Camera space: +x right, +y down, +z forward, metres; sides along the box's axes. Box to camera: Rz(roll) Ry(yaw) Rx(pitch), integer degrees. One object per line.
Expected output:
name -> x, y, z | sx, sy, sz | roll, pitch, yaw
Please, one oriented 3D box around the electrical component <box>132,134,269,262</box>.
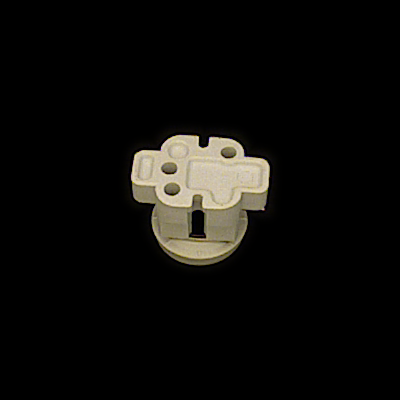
electrical component -> 0.000, 0.000, 0.638 | 0.078, 0.057, 0.057 | 4, -38, 0
